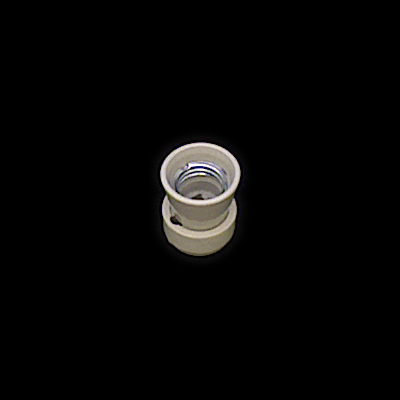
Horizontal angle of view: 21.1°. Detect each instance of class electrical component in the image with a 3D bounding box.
[{"bbox_3d":[0.000,0.000,0.629,0.045,0.044,0.055,0,-37,0],"label":"electrical component"}]
